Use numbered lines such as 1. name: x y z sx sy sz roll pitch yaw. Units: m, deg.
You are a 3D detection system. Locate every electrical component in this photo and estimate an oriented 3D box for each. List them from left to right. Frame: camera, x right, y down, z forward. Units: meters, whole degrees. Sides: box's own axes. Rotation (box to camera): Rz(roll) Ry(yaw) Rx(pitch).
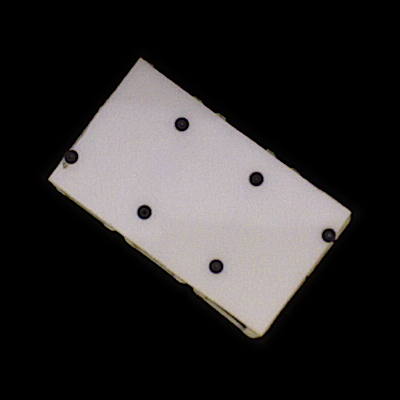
1. electrical component: 0.000 0.000 0.631 0.150 0.089 0.061 37 -5 3
